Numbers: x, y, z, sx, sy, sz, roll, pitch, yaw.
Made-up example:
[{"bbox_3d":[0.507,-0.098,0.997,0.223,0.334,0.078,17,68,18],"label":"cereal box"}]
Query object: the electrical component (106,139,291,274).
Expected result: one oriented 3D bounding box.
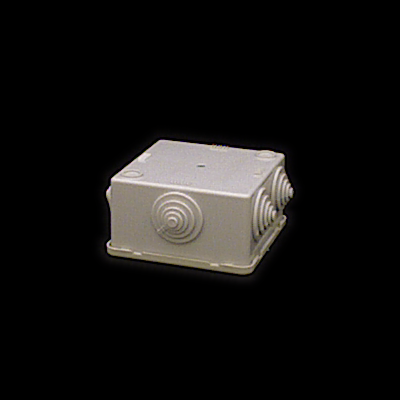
[{"bbox_3d":[0.000,0.000,0.642,0.099,0.049,0.099,8,22,16],"label":"electrical component"}]
